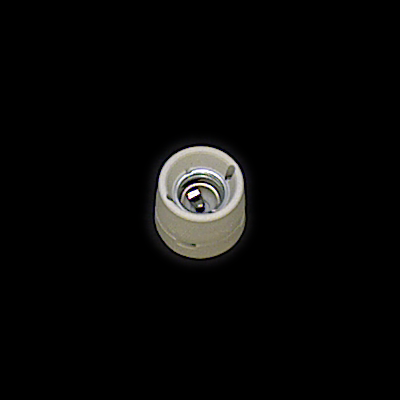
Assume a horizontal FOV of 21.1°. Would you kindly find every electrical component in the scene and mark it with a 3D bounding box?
[{"bbox_3d":[0.000,0.000,0.633,0.055,0.055,0.047,0,-27,-1],"label":"electrical component"}]
